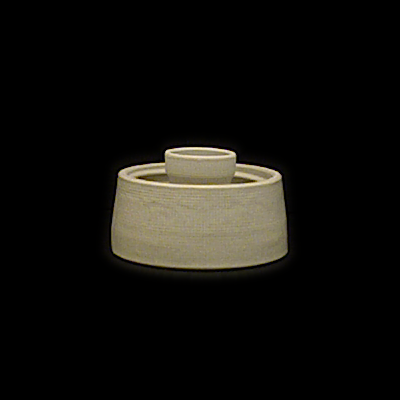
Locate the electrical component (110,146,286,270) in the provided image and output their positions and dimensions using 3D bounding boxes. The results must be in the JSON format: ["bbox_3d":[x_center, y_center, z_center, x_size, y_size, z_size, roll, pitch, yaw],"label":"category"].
[{"bbox_3d":[0.000,0.000,0.650,0.108,0.061,0.107,1,11,0],"label":"electrical component"}]
